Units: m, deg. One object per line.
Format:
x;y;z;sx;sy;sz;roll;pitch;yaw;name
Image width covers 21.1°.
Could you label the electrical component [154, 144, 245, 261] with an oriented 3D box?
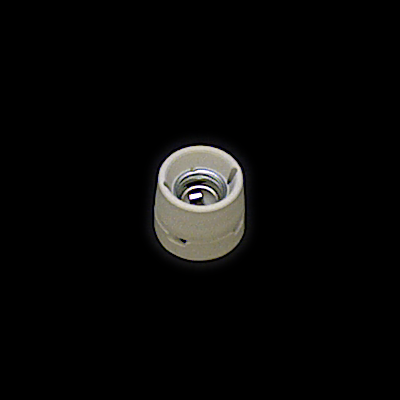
0.000;0.000;0.634;0.055;0.055;0.047;0;-37;-2;electrical component
